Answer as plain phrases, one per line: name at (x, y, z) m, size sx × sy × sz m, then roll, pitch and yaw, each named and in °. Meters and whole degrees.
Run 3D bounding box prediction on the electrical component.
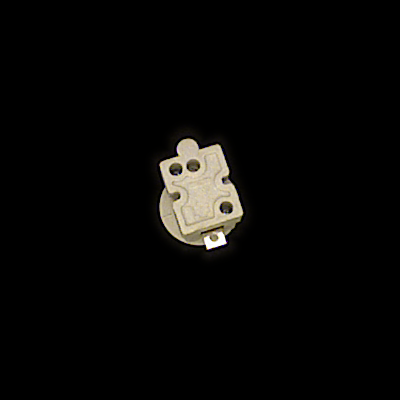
electrical component at (0.000, 0.000, 0.637) m, size 0.048 × 0.066 × 0.055 m, roll -17°, pitch -14°, yaw -6°
